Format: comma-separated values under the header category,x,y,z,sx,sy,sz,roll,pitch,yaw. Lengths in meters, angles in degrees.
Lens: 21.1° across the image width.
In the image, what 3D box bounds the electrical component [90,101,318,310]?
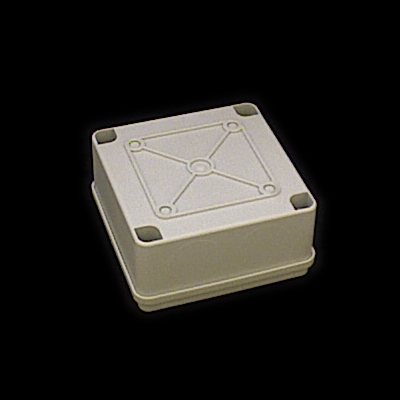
category,x,y,z,sx,sy,sz,roll,pitch,yaw
electrical component,0.000,0.000,0.632,0.109,0.057,0.107,-12,44,-14
